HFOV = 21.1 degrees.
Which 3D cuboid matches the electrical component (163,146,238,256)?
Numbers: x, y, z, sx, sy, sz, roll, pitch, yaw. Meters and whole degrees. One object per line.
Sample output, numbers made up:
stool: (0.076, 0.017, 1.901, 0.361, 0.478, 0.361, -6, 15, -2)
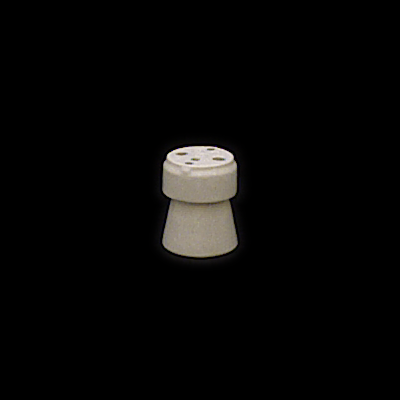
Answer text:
electrical component: (0.000, 0.000, 0.640, 0.045, 0.056, 0.044, 1, 21, 0)
